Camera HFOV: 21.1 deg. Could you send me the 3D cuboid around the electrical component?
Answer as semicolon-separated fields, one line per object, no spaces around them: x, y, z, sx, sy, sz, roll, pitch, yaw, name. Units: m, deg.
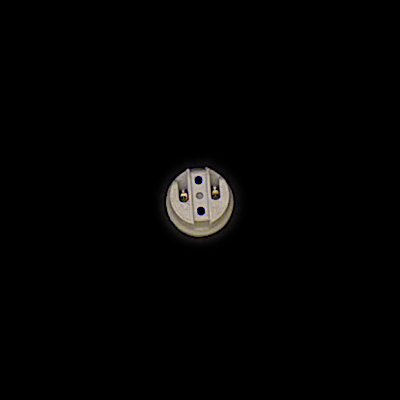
0.000;0.000;0.635;0.040;0.040;0.046;0;-6;0;electrical component
